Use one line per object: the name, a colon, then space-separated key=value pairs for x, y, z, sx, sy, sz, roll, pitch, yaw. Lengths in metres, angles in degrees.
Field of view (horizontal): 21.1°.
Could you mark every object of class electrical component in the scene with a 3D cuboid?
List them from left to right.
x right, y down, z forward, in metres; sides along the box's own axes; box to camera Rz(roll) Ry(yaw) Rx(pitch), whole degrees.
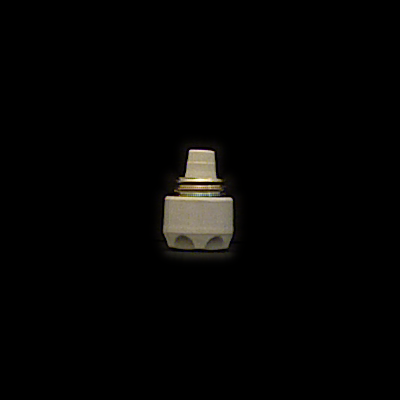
electrical component: x=0.000 y=0.000 z=0.655 sx=0.043 sy=0.062 sz=0.043 roll=2 pitch=3 yaw=0
